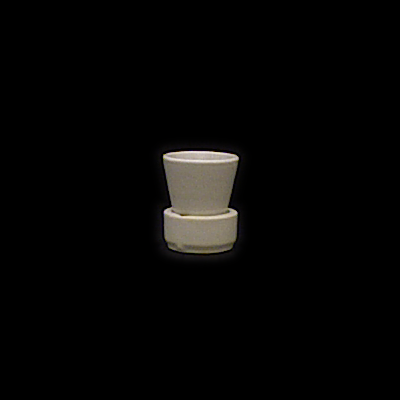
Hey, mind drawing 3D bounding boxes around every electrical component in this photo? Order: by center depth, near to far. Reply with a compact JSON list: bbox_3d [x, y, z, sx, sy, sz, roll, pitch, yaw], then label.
[{"bbox_3d":[0.000,0.000,0.643,0.045,0.055,0.044,1,10,0],"label":"electrical component"}]
